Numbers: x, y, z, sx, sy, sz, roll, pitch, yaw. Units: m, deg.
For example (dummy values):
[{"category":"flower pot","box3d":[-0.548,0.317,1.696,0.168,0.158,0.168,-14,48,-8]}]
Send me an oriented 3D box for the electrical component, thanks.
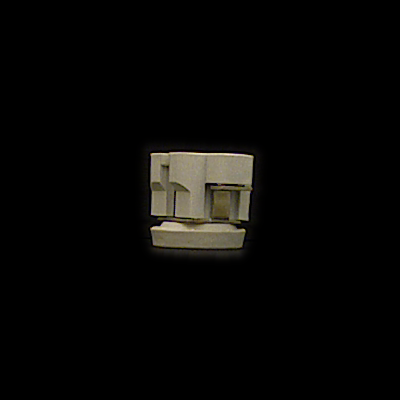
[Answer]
[{"category":"electrical component","box3d":[0.000,0.000,0.656,0.058,0.057,0.078,1,2,-35]}]
